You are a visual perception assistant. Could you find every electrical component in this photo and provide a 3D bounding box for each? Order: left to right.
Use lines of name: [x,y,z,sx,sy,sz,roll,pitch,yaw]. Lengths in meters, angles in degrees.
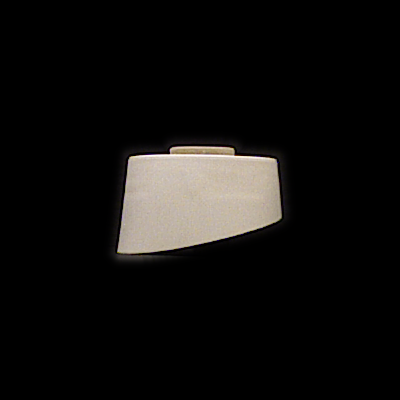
electrical component: [0.000,0.000,0.650,0.099,0.064,0.099,1,0,0]
